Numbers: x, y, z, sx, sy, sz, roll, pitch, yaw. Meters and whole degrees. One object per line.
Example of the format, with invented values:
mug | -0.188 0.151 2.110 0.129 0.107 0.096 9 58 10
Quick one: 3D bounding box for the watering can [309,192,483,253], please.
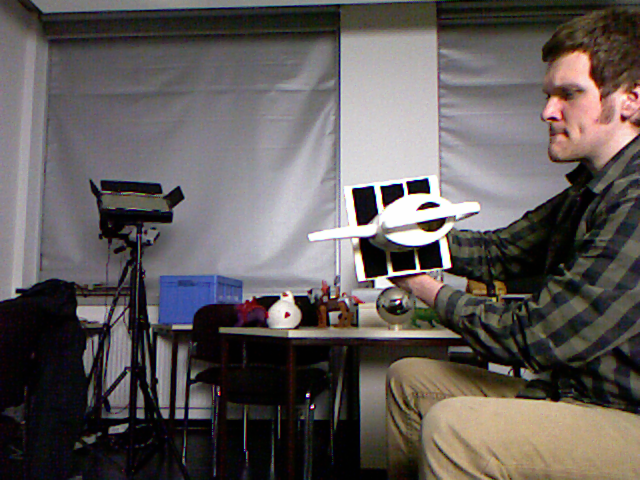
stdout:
watering can | 0.139 -0.028 1.012 0.350 0.105 0.223 -10 -6 -9
